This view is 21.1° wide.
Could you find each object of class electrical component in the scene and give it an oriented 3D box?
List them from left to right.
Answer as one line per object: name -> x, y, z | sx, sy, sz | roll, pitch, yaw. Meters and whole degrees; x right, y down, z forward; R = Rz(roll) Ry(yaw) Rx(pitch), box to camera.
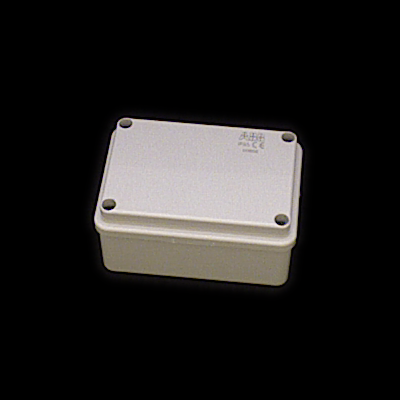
electrical component -> 0.000, 0.000, 0.630 | 0.113, 0.078, 0.057 | 5, -37, 3
